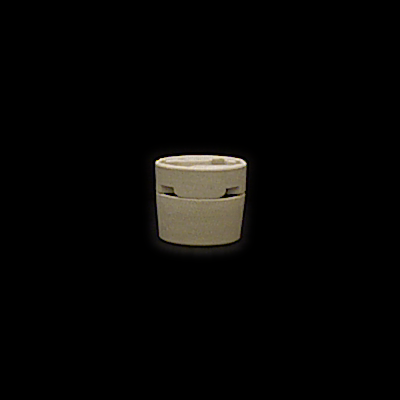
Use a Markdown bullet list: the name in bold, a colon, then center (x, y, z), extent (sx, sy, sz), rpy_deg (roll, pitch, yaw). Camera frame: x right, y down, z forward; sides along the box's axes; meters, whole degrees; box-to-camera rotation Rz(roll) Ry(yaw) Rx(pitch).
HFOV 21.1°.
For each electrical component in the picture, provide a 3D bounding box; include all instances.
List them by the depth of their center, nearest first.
- **electrical component**: center (0.000, 0.000, 0.645), extent (0.055, 0.047, 0.055), rpy_deg (1, 10, 0)
